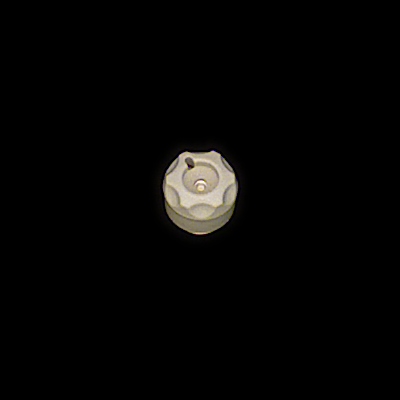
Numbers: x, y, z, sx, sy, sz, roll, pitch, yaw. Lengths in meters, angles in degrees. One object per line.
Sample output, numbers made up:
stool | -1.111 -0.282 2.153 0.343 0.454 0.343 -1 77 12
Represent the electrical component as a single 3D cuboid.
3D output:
electrical component | 0.000 0.000 0.634 0.043 0.043 0.062 0 -26 0
